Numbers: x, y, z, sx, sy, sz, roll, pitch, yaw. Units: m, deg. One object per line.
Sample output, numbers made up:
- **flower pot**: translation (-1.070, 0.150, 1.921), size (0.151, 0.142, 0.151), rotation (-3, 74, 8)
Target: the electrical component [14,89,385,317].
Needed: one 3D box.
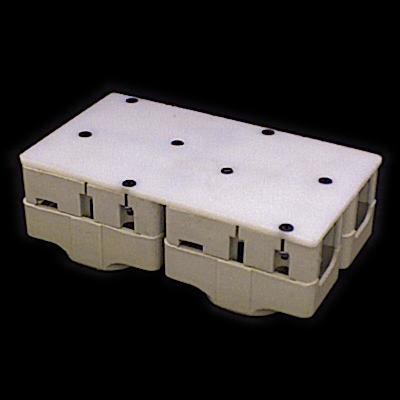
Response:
- **electrical component**: translation (0.000, 0.000, 0.633), size (0.185, 0.061, 0.104), rotation (15, 34, 23)
